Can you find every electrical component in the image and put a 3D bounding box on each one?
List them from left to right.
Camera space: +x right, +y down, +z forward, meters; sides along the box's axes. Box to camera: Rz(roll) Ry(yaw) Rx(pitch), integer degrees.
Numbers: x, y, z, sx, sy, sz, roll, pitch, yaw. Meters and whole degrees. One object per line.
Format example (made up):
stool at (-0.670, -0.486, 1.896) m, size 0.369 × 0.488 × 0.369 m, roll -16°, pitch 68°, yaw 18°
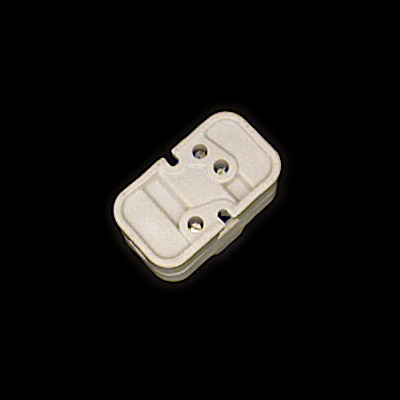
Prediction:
electrical component at (0.000, 0.000, 0.635) m, size 0.096 × 0.053 × 0.059 m, roll -41°, pitch -12°, yaw -10°
